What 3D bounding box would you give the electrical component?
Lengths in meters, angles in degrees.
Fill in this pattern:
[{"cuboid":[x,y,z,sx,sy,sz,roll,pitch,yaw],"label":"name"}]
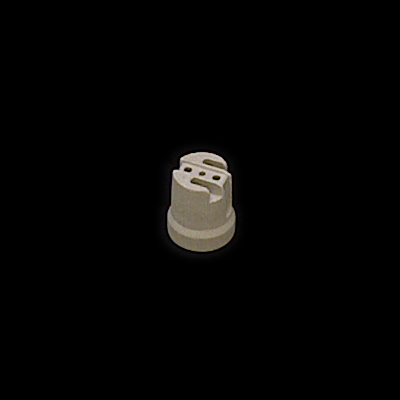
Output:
[{"cuboid":[0.000,0.000,0.635,0.040,0.046,0.040,0,43,0],"label":"electrical component"}]
